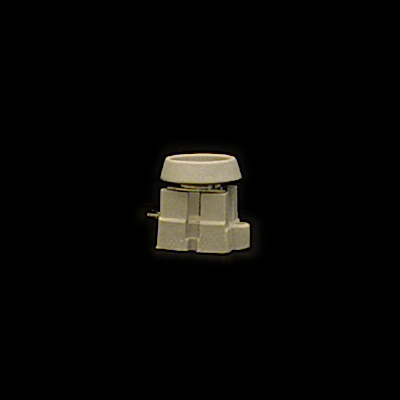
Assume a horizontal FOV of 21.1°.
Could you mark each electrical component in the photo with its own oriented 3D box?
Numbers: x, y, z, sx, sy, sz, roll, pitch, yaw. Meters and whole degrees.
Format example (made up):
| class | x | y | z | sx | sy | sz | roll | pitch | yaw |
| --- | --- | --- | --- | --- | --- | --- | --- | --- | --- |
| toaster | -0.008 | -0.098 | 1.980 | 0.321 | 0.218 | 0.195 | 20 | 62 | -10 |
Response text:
| class | x | y | z | sx | sy | sz | roll | pitch | yaw |
| --- | --- | --- | --- | --- | --- | --- | --- | --- | --- |
| electrical component | 0.000 | 0.000 | 0.651 | 0.066 | 0.056 | 0.048 | 4 | 10 | 12 |
